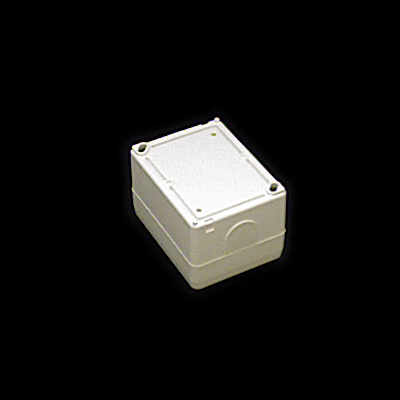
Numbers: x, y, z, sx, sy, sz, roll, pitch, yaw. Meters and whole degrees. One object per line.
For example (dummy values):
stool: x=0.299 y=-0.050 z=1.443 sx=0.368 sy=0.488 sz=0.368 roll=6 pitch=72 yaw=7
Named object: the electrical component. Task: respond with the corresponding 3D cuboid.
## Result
electrical component: x=0.000 y=0.000 z=0.635 sx=0.062 sy=0.061 sz=0.095 roll=-20 pitch=46 yaw=-21
